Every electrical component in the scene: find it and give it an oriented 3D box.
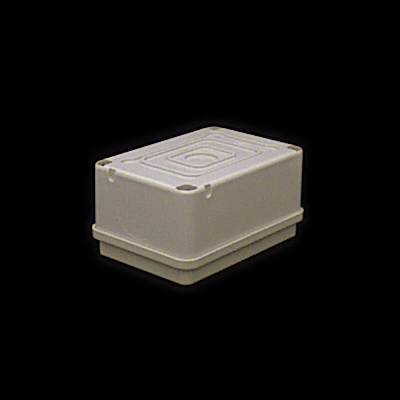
[{"bbox_3d":[0.000,0.000,0.640,0.077,0.058,0.113,18,26,37],"label":"electrical component"}]
